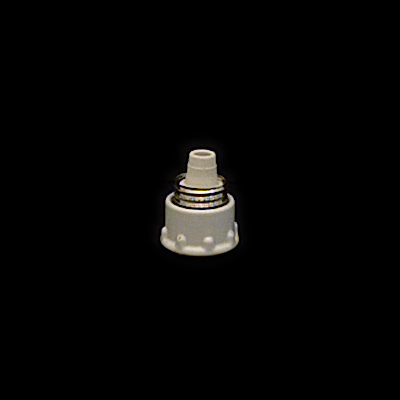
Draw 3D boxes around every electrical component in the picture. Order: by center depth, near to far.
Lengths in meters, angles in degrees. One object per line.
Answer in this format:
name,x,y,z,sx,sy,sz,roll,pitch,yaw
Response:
electrical component,0.000,0.000,0.647,0.048,0.063,0.047,2,22,0
